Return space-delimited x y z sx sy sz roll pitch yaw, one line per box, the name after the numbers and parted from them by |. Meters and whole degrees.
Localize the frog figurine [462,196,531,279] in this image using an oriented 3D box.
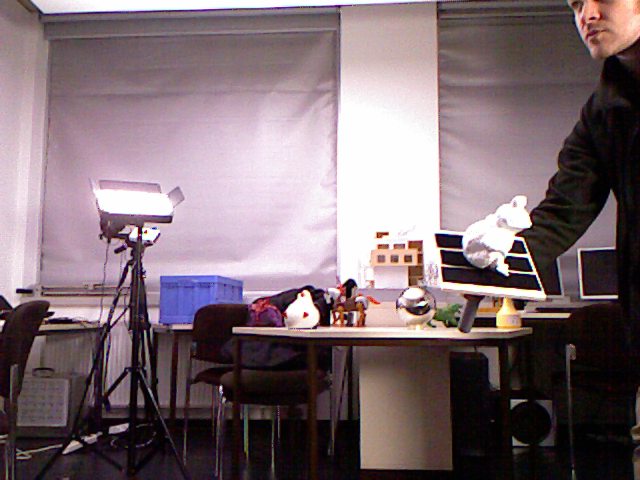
0.366 -0.018 1.073 0.123 0.156 0.140 17 40 16 | frog figurine
